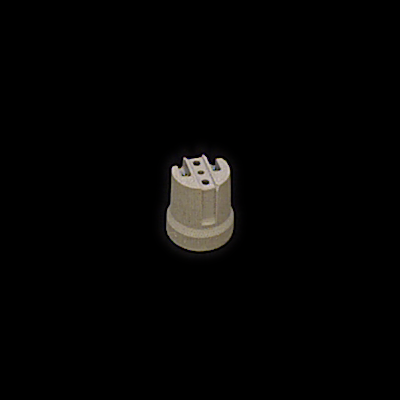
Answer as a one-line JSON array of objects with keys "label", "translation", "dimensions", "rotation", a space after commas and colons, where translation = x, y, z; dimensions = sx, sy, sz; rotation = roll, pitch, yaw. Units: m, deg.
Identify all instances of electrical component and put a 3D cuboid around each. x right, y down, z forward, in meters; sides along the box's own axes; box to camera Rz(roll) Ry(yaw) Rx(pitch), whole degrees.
[{"label": "electrical component", "translation": [0.000, 0.000, 0.637], "dimensions": [0.040, 0.046, 0.040], "rotation": [1, 42, -1]}]
